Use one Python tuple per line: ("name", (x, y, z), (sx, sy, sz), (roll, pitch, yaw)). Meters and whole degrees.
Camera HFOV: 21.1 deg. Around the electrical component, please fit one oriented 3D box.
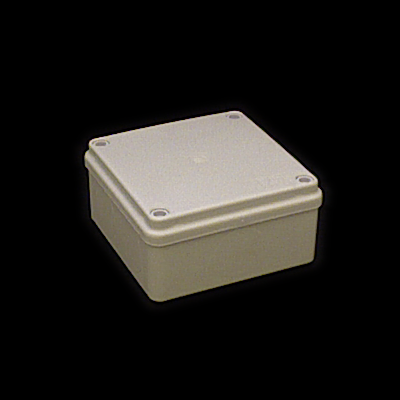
("electrical component", (0.000, 0.000, 0.636), (0.109, 0.057, 0.107), (-13, 34, -22))
